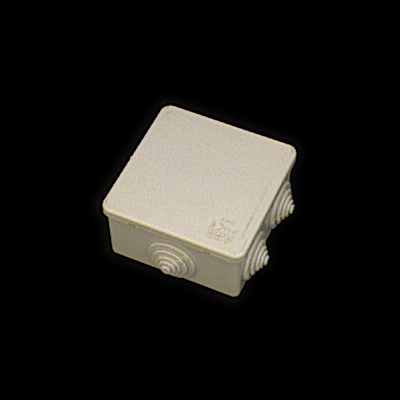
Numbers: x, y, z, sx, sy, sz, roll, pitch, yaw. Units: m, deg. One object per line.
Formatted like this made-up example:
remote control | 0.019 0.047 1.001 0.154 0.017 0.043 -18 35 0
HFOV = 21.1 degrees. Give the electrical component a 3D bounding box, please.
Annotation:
electrical component | 0.000 0.000 0.640 0.099 0.100 0.048 20 -34 14
